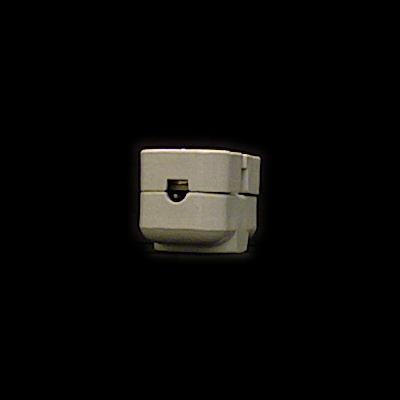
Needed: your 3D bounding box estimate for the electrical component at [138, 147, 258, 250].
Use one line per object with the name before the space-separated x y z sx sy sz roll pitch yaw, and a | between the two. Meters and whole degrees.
electrical component | 0.000 0.000 0.658 0.053 0.059 0.095 2 0 17
